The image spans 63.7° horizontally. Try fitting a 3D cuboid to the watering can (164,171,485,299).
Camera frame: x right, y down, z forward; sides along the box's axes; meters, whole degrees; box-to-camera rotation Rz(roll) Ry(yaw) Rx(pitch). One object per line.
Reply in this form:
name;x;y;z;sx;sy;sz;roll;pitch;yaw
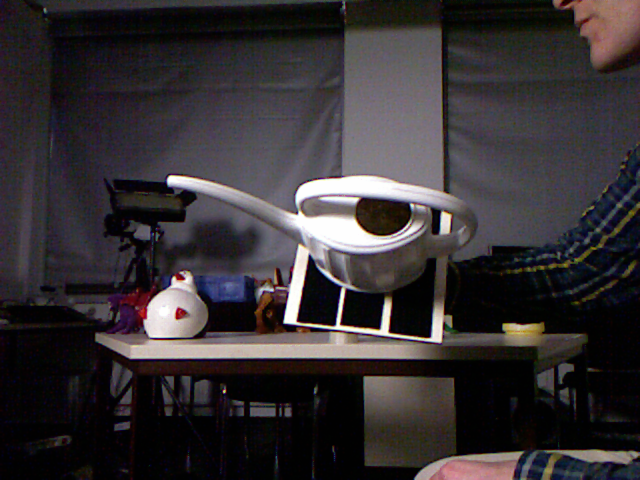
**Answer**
watering can;0.010;-0.016;0.621;0.351;0.107;0.222;6;-26;9
